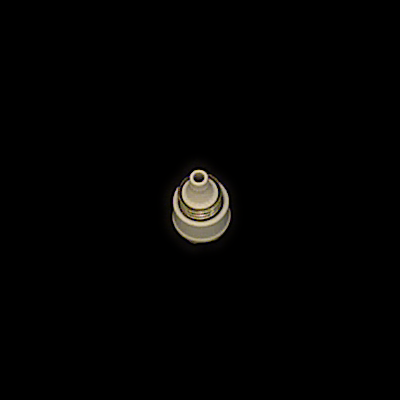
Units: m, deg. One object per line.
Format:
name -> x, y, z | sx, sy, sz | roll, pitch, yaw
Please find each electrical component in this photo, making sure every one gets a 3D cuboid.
electrical component -> 0.000, 0.000, 0.637 | 0.035, 0.035, 0.061 | 0, -27, 2
